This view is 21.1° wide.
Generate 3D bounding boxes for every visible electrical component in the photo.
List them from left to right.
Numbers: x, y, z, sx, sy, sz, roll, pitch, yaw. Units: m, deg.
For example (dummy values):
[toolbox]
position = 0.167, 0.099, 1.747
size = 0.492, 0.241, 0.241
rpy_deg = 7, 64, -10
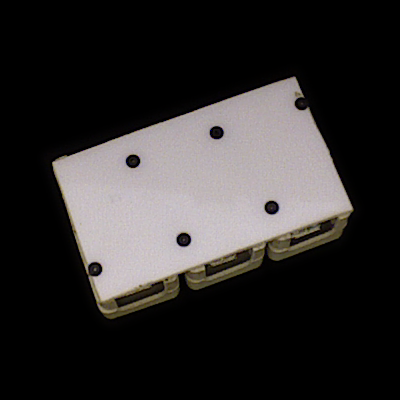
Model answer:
[electrical component]
position = 0.000, 0.000, 0.629
size = 0.150, 0.089, 0.062
rpy_deg = -19, -16, -5
